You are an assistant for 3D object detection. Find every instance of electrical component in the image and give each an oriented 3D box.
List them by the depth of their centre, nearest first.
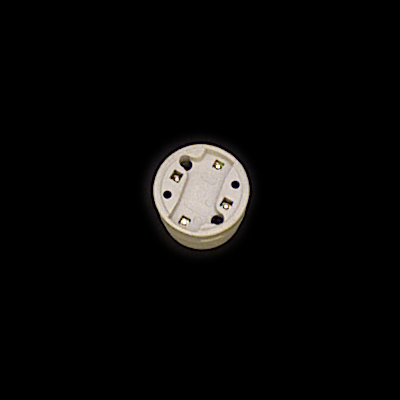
[{"bbox_3d":[0.000,0.000,0.634,0.055,0.056,0.047,0,-17,0],"label":"electrical component"}]
